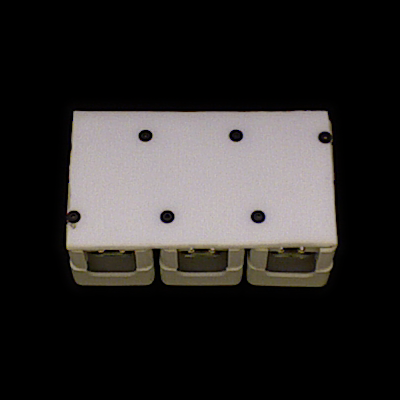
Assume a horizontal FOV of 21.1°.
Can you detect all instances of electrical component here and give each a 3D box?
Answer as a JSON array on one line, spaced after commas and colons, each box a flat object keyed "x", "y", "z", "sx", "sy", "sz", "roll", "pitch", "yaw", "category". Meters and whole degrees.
[{"x": 0.000, "y": 0.000, "z": 0.632, "sx": 0.150, "sy": 0.089, "sz": 0.062, "roll": 0, "pitch": -27, "yaw": 0, "category": "electrical component"}]
